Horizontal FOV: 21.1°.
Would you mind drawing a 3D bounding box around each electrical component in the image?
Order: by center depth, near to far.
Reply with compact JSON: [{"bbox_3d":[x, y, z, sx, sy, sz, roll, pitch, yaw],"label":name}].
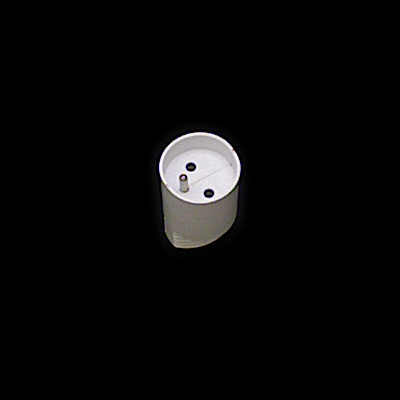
[{"bbox_3d":[0.000,0.000,0.615,0.043,0.043,0.081,0,-28,1],"label":"electrical component"}]
